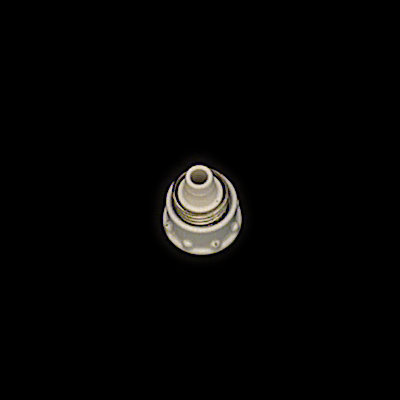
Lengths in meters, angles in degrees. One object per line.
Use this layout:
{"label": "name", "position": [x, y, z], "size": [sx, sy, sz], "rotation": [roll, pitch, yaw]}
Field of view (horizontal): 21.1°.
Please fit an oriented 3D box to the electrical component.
{"label": "electrical component", "position": [0.000, 0.000, 0.633], "size": [0.048, 0.048, 0.062], "rotation": [0, -27, 2]}
